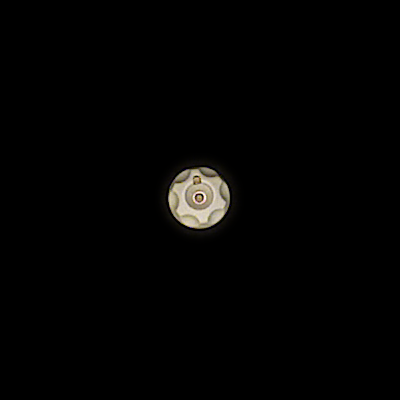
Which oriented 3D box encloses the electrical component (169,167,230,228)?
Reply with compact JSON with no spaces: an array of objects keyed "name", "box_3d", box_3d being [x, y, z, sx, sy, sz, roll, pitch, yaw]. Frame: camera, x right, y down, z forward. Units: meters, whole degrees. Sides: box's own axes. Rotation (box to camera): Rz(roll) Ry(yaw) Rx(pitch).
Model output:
[{"name":"electrical component","box_3d":[0.000,0.000,0.635,0.035,0.035,0.061,0,-6,1]}]
